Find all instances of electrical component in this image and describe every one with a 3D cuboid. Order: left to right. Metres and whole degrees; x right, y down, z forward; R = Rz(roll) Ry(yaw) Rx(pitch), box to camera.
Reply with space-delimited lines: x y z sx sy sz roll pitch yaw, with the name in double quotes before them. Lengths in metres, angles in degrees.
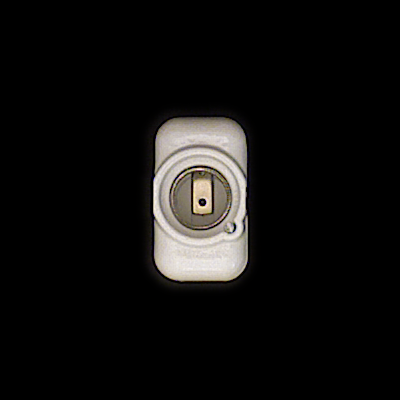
"electrical component" 0.000 0.000 0.635 0.054 0.095 0.059 -1 -5 1
